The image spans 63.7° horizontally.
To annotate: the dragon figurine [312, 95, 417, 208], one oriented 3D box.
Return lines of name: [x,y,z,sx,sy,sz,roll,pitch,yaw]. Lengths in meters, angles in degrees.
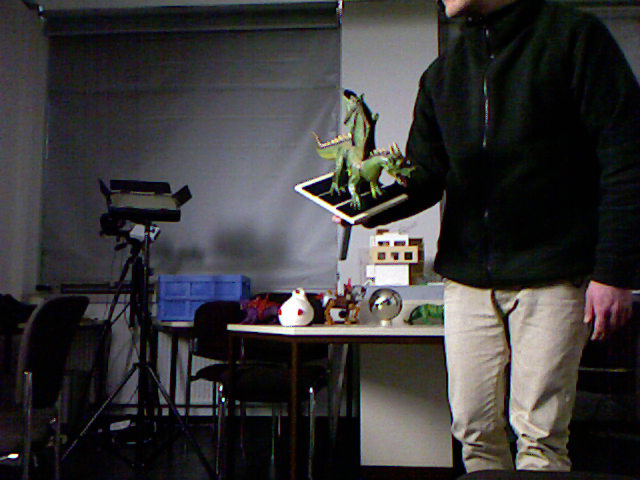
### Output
dragon figurine: [0.081,-0.234,1.236,0.123,0.237,0.418,-19,44,-26]
